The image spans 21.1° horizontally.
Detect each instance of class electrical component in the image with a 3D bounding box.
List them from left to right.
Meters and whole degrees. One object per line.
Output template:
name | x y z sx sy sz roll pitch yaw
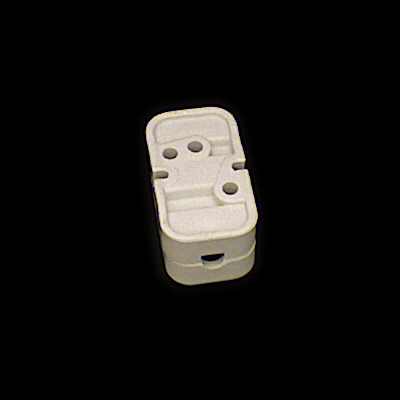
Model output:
electrical component | 0.000 0.000 0.634 0.054 0.094 0.059 -7 -36 -5
